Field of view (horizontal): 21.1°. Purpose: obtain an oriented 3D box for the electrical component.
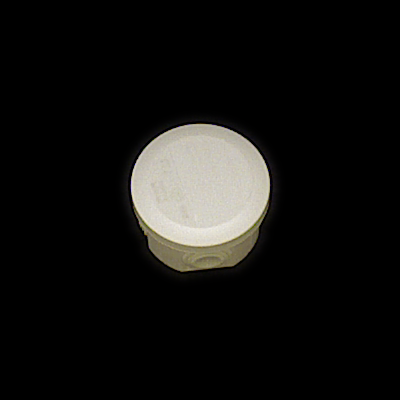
[{"bbox_3d":[0.000,0.000,0.631,0.080,0.080,0.050,0,-28,0],"label":"electrical component"}]
